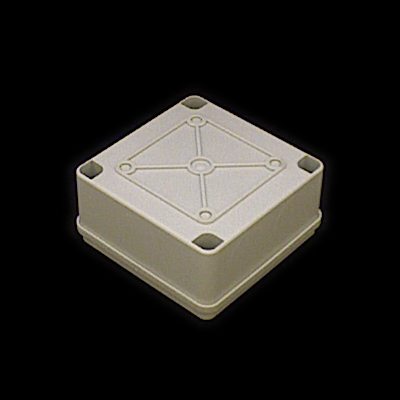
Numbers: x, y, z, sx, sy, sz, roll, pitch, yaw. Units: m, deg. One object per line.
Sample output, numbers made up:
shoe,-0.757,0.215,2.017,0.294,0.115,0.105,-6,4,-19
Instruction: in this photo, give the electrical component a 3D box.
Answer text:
electrical component,0.000,0.000,0.633,0.108,0.057,0.108,31,50,29
